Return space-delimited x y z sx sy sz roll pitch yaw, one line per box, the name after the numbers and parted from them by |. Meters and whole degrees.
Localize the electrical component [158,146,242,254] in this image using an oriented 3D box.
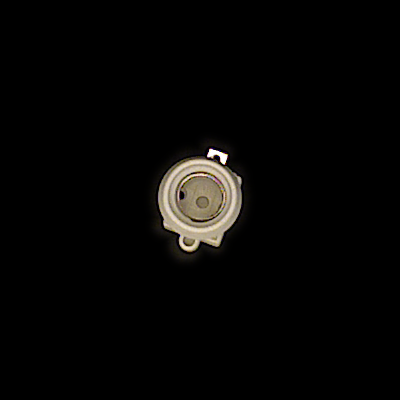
0.000 0.000 0.639 0.048 0.066 0.055 18 -5 1 | electrical component
